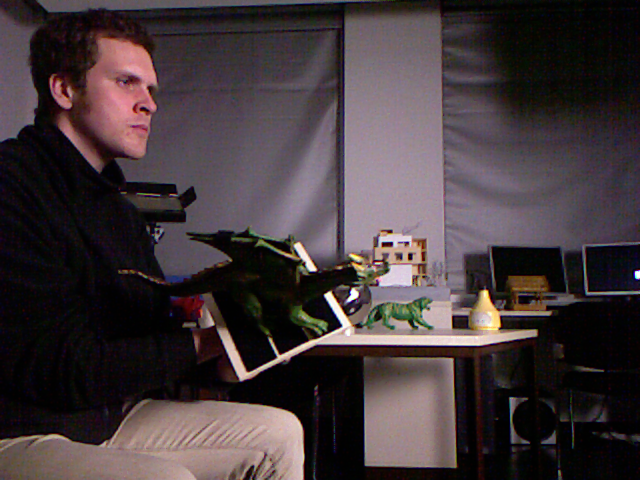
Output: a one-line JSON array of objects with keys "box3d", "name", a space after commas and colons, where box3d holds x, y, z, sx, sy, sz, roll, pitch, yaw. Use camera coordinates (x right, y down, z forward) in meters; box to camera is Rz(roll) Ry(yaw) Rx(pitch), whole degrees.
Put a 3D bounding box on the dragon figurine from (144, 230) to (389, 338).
[{"box3d": [-0.105, 0.045, 0.781, 0.412, 0.125, 0.238, 4, -32, 5], "name": "dragon figurine"}]
